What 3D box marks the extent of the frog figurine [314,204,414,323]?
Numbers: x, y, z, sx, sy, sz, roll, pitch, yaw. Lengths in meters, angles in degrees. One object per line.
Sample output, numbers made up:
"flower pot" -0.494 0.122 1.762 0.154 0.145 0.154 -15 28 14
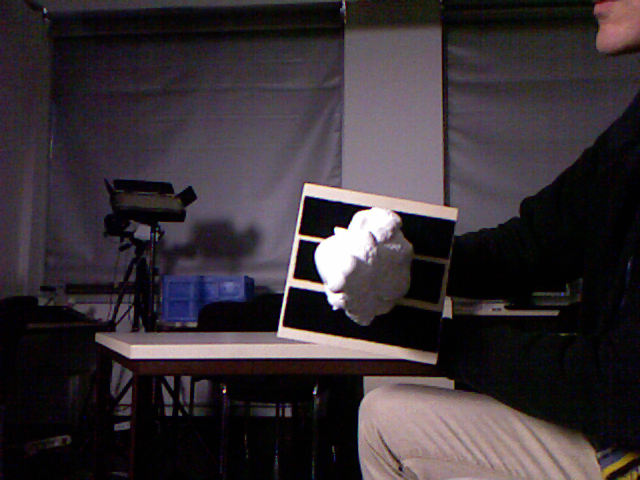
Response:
"frog figurine" 0.055 0.024 0.585 0.123 0.139 0.159 22 -5 -1
